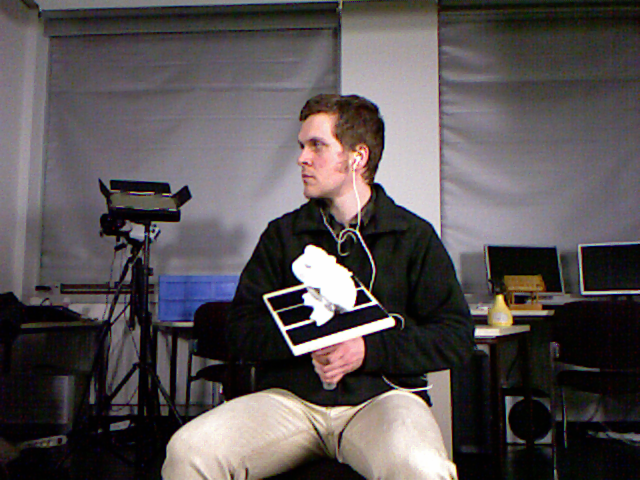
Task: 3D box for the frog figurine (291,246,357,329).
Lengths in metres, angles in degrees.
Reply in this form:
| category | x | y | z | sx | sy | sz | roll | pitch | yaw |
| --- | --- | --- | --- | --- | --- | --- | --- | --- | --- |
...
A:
| category | x | y | z | sx | sy | sz | roll | pitch | yaw |
| --- | --- | --- | --- | --- | --- | --- | --- | --- | --- |
| frog figurine | 0.009 | 0.072 | 0.984 | 0.123 | 0.156 | 0.140 | -3 | 31 | 1 |
